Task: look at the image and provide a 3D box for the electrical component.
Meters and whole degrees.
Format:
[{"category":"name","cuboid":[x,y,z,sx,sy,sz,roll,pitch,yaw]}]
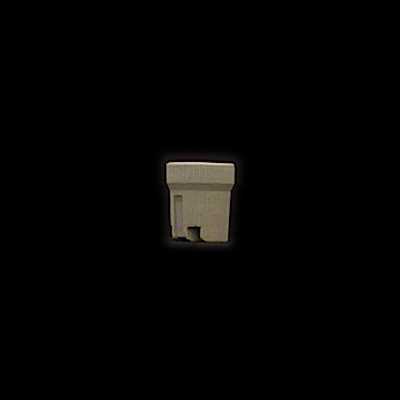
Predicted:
[{"category":"electrical component","cuboid":[0.000,0.000,0.647,0.040,0.046,0.040,1,1,1]}]
